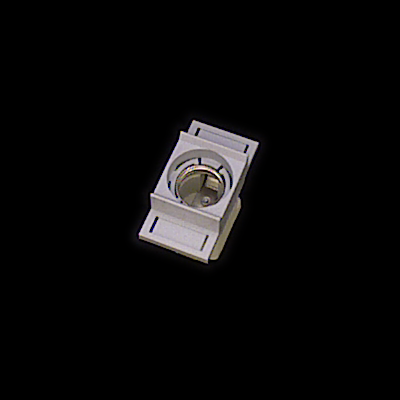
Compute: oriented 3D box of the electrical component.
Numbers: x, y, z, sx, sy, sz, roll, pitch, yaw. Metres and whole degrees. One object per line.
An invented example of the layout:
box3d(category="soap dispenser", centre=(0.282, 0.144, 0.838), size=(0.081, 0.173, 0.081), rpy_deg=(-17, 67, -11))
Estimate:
box3d(category="electrical component", centre=(0.000, 0.000, 0.625), size=(0.042, 0.081, 0.064), rpy_deg=(20, -25, 11))
